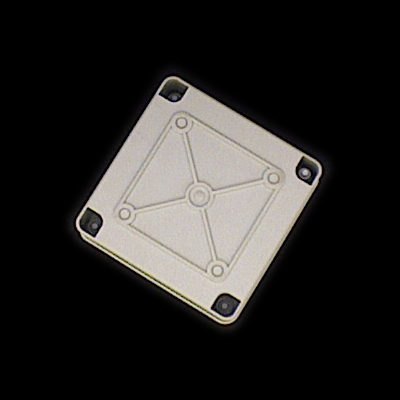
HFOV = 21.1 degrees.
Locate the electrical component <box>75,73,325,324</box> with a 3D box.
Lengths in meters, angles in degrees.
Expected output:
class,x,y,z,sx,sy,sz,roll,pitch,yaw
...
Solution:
class,x,y,z,sx,sy,sz,roll,pitch,yaw
electrical component,0.000,0.000,0.629,0.109,0.109,0.056,31,-6,3
